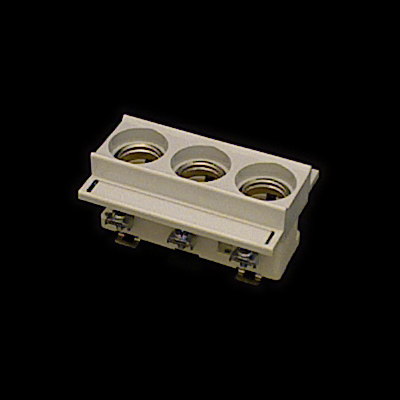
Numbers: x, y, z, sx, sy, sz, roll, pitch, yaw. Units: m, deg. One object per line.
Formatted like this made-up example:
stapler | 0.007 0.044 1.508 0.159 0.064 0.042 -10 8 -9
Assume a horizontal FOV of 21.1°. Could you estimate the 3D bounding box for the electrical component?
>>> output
electrical component | 0.000 0.000 0.644 0.121 0.064 0.078 17 43 17
